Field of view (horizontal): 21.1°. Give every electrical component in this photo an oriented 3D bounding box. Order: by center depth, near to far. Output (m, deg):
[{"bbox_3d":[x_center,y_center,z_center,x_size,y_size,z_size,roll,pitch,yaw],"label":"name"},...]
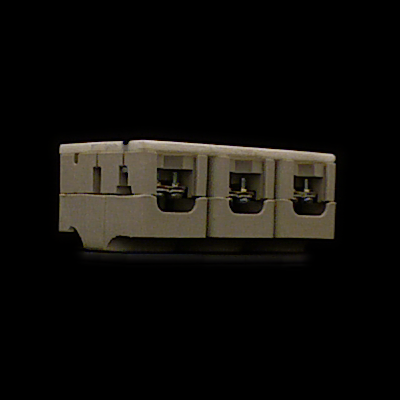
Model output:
[{"bbox_3d":[0.000,0.000,0.661,0.150,0.062,0.089,2,0,-38],"label":"electrical component"}]
